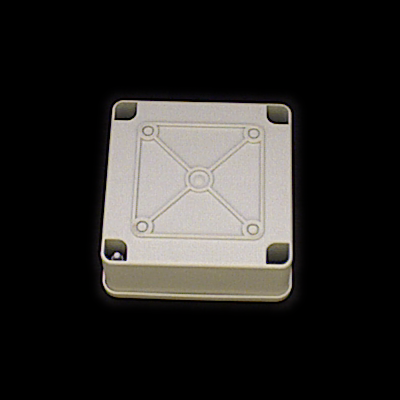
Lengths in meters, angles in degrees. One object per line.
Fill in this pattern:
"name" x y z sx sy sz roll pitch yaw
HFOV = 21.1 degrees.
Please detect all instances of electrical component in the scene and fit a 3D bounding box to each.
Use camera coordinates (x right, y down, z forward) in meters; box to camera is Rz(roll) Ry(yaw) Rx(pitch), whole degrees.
"electrical component" 0.000 0.000 0.626 0.109 0.109 0.056 1 -27 1
